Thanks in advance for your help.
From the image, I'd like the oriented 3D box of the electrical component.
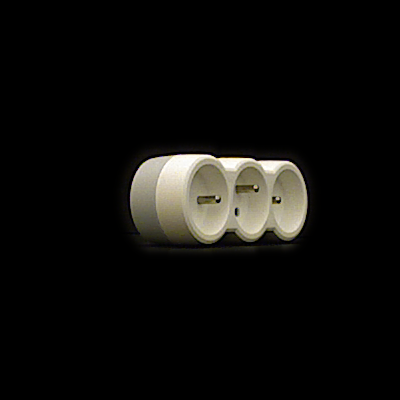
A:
[{"bbox_3d":[0.000,0.000,0.660,0.073,0.052,0.139,0,0,35],"label":"electrical component"}]
